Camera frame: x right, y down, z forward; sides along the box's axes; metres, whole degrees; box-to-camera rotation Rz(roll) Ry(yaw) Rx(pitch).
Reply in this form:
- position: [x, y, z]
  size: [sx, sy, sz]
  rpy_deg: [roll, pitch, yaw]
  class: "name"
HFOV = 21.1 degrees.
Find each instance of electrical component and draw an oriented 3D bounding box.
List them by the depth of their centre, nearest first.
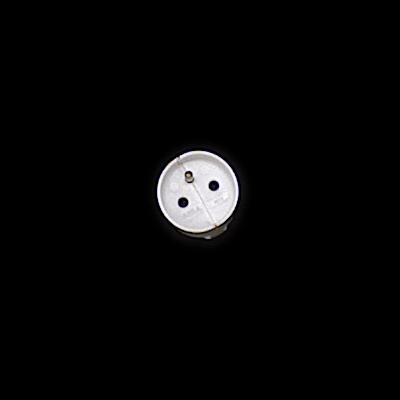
- position: [0.000, 0.000, 0.615]
  size: [0.043, 0.043, 0.080]
  rpy_deg: [0, -7, 0]
  class: "electrical component"
